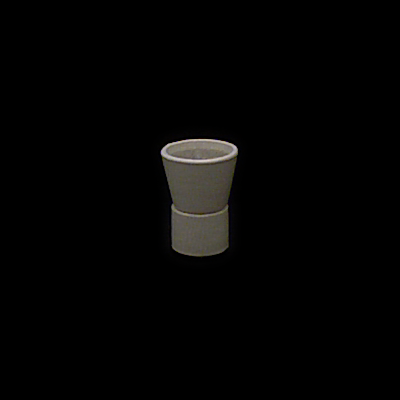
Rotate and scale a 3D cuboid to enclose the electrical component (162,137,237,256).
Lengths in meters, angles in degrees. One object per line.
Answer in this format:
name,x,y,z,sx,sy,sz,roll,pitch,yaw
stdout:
electrical component,0.000,0.000,0.637,0.044,0.066,0.044,0,22,0
